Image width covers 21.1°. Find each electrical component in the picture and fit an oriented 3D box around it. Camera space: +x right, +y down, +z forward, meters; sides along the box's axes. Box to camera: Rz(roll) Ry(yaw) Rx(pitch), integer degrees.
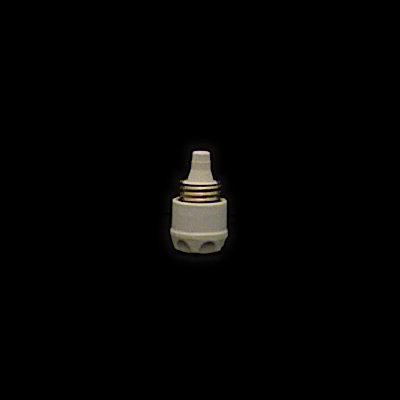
[{"bbox_3d":[0.000,0.000,0.656,0.035,0.062,0.035,2,11,0],"label":"electrical component"}]
